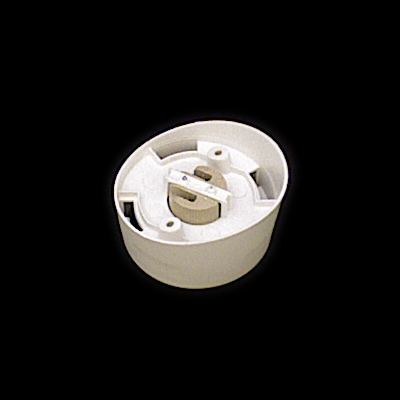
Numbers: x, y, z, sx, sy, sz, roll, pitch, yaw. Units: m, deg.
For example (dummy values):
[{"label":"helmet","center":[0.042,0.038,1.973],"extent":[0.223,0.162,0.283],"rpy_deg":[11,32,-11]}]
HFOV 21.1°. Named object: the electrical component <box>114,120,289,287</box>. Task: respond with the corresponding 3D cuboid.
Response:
[{"label":"electrical component","center":[0.000,0.000,0.626],"extent":[0.099,0.098,0.064],"rpy_deg":[0,-38,-2]}]
